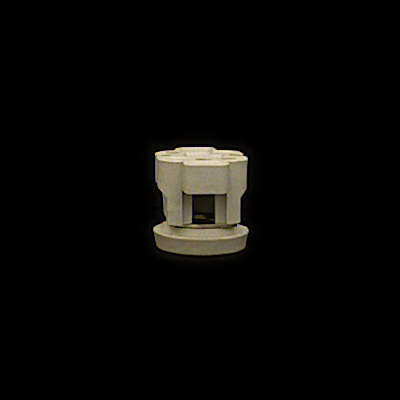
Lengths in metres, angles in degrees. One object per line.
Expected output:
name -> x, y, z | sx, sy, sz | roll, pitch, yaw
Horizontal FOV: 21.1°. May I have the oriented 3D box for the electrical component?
electrical component -> 0.000, 0.000, 0.652 | 0.058, 0.057, 0.077 | -1, 10, -7
